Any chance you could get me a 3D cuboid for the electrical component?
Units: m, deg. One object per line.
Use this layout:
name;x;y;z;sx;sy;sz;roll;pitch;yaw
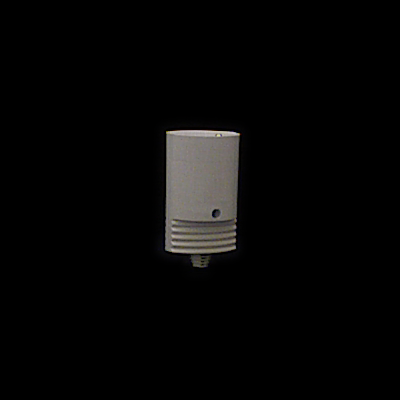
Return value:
electrical component;0.000;0.000;0.645;0.043;0.082;0.042;2;11;0
